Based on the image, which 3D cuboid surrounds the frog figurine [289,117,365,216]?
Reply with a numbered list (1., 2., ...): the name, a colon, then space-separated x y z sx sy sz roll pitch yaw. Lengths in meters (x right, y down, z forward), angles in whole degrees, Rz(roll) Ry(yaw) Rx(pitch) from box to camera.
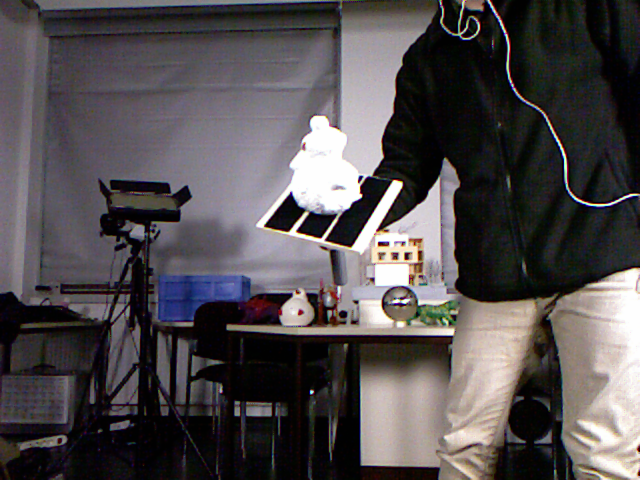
1. frog figurine: 0.007 -0.125 0.889 0.124 0.156 0.139 -37 51 -26
